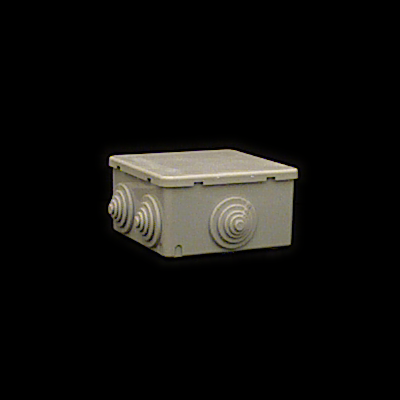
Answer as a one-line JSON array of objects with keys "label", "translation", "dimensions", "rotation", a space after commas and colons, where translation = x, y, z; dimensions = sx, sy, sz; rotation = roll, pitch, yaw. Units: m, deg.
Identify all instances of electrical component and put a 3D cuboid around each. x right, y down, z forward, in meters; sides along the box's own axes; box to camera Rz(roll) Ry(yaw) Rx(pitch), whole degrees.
[{"label": "electrical component", "translation": [0.000, 0.000, 0.651], "dimensions": [0.100, 0.049, 0.098], "rotation": [-4, 13, -26]}]
